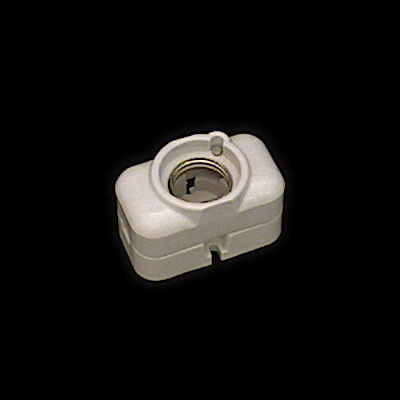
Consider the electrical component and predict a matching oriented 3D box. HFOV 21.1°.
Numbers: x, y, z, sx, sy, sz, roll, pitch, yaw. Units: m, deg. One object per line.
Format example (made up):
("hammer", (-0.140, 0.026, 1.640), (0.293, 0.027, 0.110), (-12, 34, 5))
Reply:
("electrical component", (0.000, 0.000, 0.636), (0.095, 0.053, 0.059), (-18, -34, -14))
